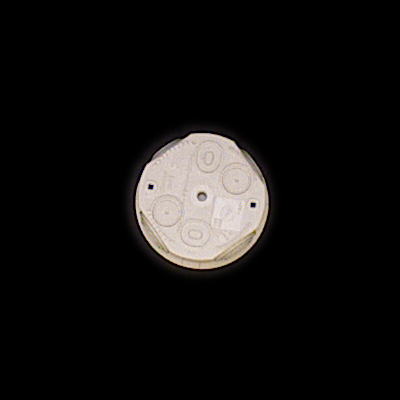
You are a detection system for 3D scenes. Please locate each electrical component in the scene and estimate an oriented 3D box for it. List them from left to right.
[{"bbox_3d":[0.000,0.000,0.633,0.080,0.080,0.050,0,-7,0],"label":"electrical component"}]
